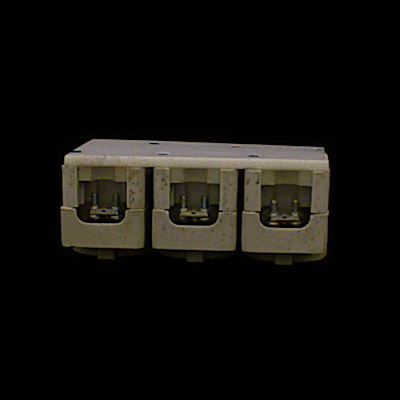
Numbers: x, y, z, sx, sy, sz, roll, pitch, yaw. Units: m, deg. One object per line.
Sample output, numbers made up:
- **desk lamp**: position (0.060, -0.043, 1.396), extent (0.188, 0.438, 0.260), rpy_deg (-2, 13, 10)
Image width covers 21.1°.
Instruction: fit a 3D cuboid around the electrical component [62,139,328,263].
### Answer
- **electrical component**: position (0.000, 0.000, 0.648), extent (0.150, 0.062, 0.088), rpy_deg (2, 10, 5)
